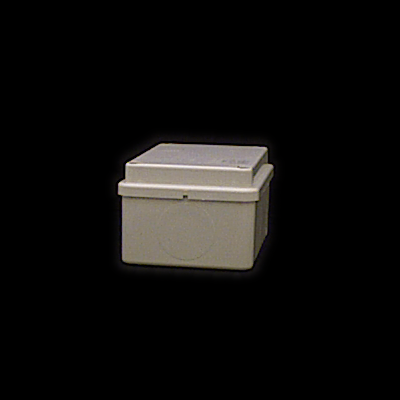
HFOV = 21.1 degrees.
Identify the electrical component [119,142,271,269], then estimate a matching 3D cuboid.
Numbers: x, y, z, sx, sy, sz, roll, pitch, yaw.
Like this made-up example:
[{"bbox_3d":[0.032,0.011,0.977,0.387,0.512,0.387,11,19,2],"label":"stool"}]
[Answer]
[{"bbox_3d":[0.000,0.000,0.644,0.078,0.057,0.112,3,10,8],"label":"electrical component"}]
